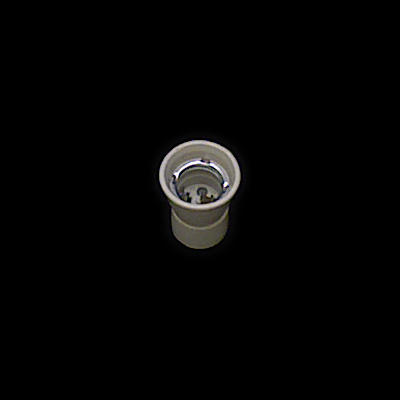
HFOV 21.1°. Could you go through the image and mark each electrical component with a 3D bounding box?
[{"bbox_3d":[0.000,0.000,0.626,0.044,0.044,0.065,0,-28,0],"label":"electrical component"}]
